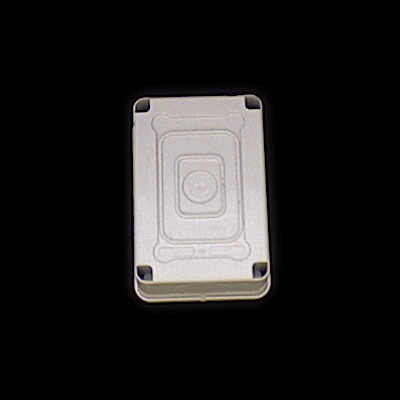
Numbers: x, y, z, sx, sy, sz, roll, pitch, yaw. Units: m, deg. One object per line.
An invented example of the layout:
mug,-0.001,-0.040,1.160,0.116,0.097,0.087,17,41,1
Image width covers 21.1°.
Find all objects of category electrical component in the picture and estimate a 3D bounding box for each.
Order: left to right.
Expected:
electrical component,0.000,0.000,0.627,0.078,0.113,0.057,-2,-16,-1
